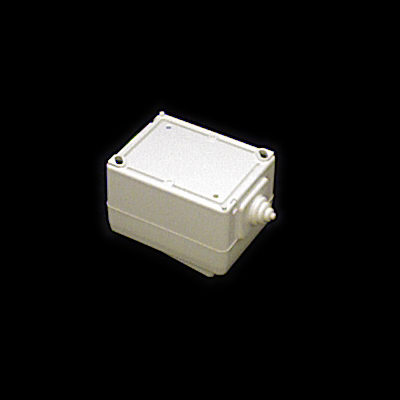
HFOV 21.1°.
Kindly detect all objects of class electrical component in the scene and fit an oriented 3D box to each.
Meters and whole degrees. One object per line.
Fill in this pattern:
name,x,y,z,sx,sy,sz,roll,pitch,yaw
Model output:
electrical component,0.000,0.000,0.629,0.096,0.061,0.061,21,45,22
